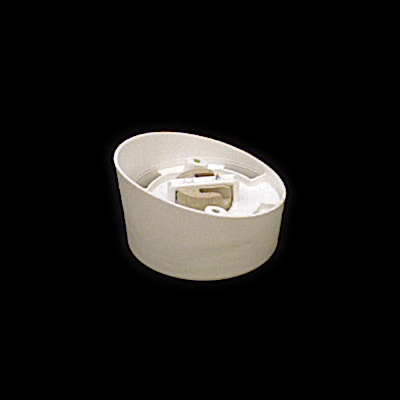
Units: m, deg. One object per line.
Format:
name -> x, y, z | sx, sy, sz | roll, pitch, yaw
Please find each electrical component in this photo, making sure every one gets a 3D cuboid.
electrical component -> 0.000, 0.000, 0.632 | 0.099, 0.065, 0.097 | 0, 32, 0
